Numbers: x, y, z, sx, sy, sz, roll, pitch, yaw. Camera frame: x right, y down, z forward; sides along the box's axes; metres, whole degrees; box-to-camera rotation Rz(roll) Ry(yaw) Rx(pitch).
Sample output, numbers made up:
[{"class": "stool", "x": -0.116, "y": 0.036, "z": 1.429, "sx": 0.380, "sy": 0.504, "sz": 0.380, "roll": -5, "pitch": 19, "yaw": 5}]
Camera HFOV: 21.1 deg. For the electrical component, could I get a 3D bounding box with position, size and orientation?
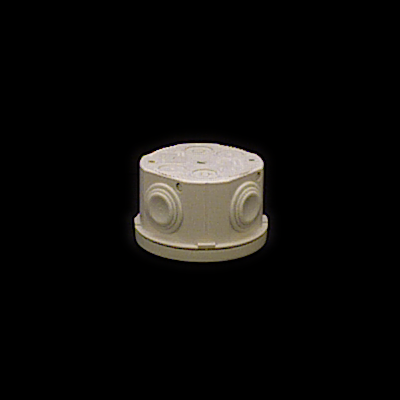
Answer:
[{"class": "electrical component", "x": 0.000, "y": 0.000, "z": 0.640, "sx": 0.080, "sy": 0.051, "sz": 0.079, "roll": 0, "pitch": 21, "yaw": 0}]
